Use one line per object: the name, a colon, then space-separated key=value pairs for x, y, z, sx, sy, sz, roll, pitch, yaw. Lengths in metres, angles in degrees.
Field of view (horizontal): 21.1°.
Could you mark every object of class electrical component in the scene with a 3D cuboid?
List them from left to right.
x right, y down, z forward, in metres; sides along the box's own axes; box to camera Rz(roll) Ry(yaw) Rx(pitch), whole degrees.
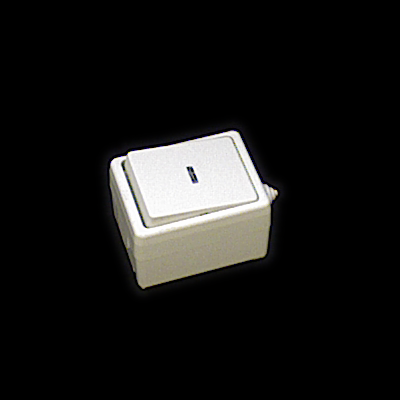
electrical component: x=0.000 y=0.000 z=0.628 sx=0.096 sy=0.061 sz=0.061 roll=-14 pitch=-36 yaw=-11
